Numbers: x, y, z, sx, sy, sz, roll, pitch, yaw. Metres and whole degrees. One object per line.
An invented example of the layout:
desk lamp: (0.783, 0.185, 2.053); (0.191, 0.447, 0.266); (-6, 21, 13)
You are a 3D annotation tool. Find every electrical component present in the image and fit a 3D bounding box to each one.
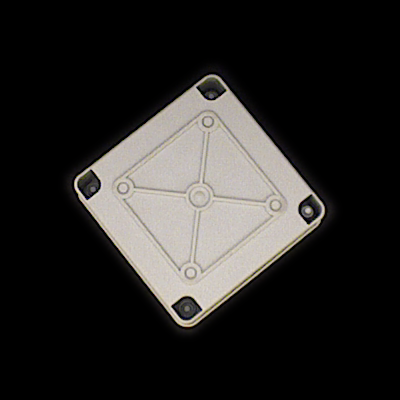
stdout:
electrical component: (0.000, 0.000, 0.629); (0.109, 0.109, 0.056); (-38, -5, -5)
